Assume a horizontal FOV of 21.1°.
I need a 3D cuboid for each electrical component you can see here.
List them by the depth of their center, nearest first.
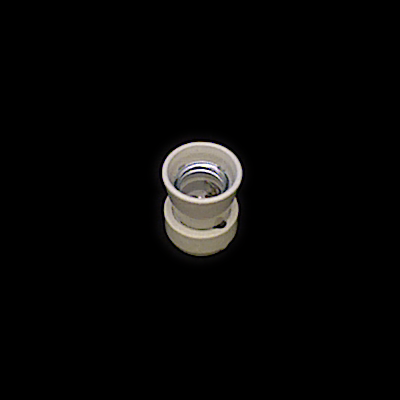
[{"bbox_3d":[0.000,0.000,0.631,0.045,0.044,0.055,0,-38,-1],"label":"electrical component"}]
